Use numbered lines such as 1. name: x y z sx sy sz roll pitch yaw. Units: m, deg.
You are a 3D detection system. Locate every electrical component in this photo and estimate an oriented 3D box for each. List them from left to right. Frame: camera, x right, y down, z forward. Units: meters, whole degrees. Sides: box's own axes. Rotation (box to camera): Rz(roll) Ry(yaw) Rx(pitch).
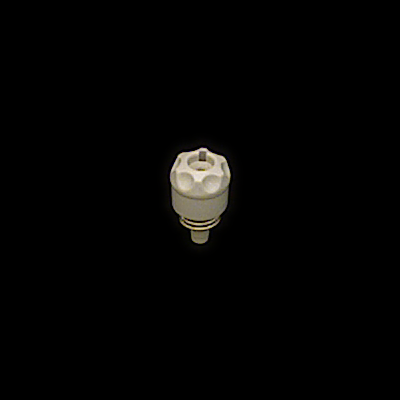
1. electrical component: 0.000 0.000 0.639 0.035 0.062 0.035 1 42 0
